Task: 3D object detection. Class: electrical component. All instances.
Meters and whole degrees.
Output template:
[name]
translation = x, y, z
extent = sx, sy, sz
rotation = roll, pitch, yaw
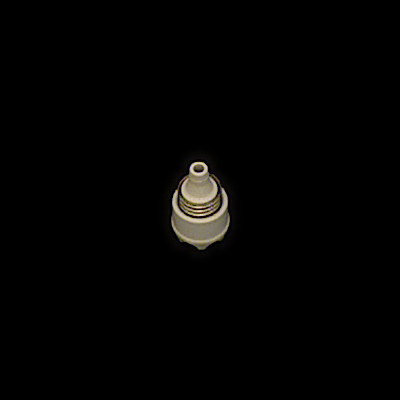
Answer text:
[electrical component]
translation = 0.000, 0.000, 0.638
extent = 0.035, 0.035, 0.062
rotation = 0, -39, 1
